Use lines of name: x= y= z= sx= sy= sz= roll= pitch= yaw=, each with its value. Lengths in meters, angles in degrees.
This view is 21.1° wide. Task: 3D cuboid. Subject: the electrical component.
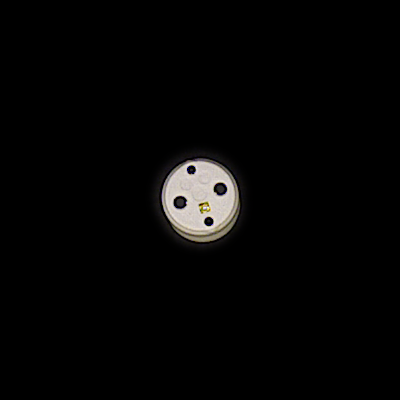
electrical component: x=0.000 y=0.000 z=0.629 sx=0.045 sy=0.045 sz=0.055 roll=0 pitch=-7 yaw=1
